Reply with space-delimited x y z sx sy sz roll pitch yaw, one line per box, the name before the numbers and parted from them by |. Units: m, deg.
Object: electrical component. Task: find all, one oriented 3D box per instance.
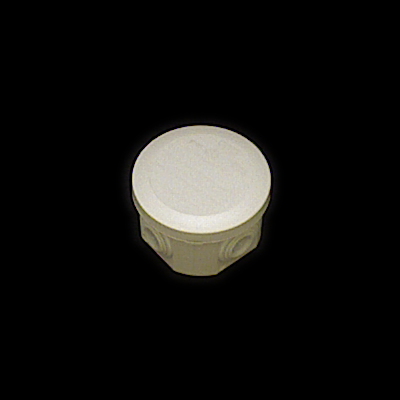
electrical component | 0.000 0.000 0.630 0.080 0.080 0.051 0 -38 0
